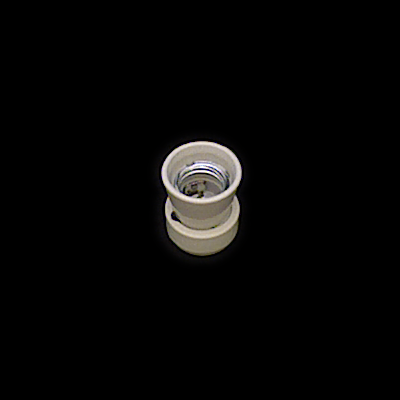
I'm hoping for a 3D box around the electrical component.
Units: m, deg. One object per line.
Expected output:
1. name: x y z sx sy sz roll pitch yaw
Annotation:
1. electrical component: 0.000 0.000 0.630 0.045 0.044 0.055 0 -38 0
